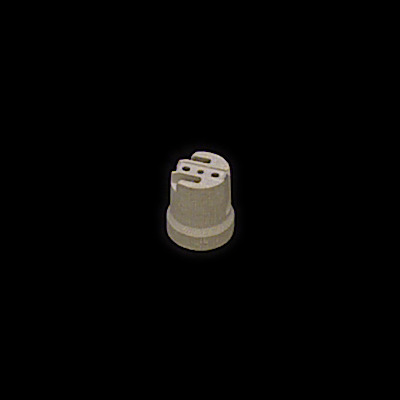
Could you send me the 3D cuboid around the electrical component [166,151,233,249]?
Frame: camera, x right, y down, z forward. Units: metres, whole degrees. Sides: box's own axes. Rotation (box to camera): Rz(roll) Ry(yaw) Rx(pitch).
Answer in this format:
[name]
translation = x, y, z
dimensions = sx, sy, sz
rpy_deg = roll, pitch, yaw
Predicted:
[electrical component]
translation = 0.000, 0.000, 0.636
dimensions = 0.040, 0.046, 0.040
rpy_deg = 1, 42, 0
